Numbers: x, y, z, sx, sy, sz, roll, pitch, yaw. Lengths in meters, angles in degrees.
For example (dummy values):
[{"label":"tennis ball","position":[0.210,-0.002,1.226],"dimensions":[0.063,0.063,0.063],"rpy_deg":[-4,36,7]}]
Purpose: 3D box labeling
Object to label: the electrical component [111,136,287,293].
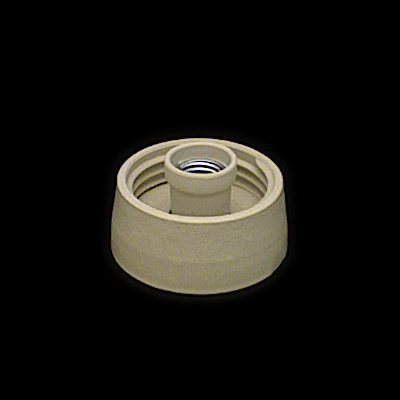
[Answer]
[{"label":"electrical component","position":[0.000,0.000,0.641],"dimensions":[0.108,0.061,0.106],"rpy_deg":[1,32,0]}]
